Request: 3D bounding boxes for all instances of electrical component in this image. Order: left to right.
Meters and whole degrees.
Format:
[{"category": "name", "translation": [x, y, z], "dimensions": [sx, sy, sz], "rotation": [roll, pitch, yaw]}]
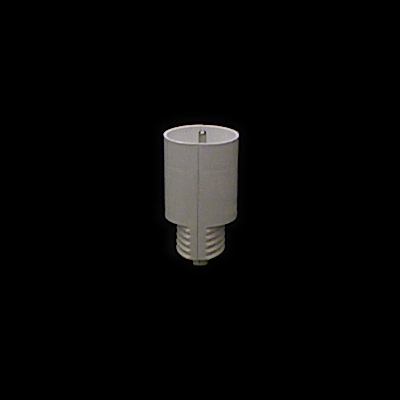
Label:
[{"category": "electrical component", "translation": [0.000, 0.000, 0.636], "dimensions": [0.043, 0.082, 0.042], "rotation": [2, 21, 0]}]
